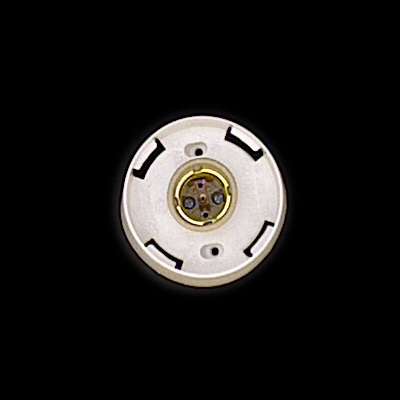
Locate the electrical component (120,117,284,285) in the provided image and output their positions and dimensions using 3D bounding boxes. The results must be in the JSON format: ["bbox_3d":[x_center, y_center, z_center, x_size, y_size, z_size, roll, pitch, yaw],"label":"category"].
[{"bbox_3d":[0.000,0.000,0.625,0.099,0.099,0.064,0,-6,1],"label":"electrical component"}]
